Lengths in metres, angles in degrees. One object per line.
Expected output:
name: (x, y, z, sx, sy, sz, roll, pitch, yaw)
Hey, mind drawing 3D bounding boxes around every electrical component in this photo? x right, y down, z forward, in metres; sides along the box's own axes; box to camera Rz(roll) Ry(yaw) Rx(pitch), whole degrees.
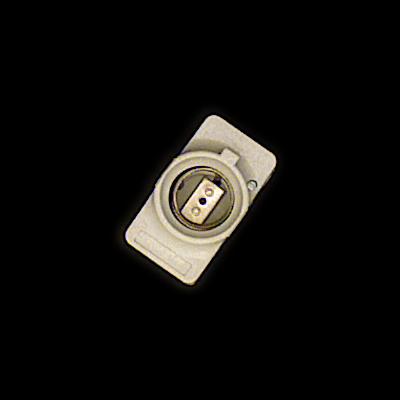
electrical component: (0.000, 0.000, 0.637, 0.050, 0.090, 0.055, 34, -4, 4)
